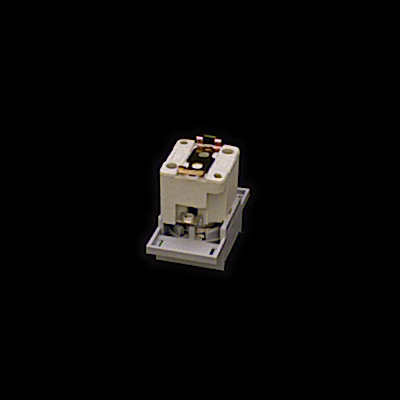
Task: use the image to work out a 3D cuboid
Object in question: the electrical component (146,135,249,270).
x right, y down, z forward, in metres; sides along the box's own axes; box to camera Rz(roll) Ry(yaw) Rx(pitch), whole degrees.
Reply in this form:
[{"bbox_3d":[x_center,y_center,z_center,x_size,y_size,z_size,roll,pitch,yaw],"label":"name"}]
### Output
[{"bbox_3d":[0.000,0.000,0.633,0.042,0.064,0.080,9,32,12],"label":"electrical component"}]
